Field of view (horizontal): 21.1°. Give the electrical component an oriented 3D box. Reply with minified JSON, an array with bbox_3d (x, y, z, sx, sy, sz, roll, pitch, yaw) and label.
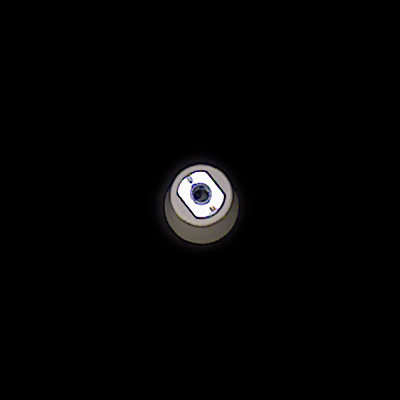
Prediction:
[{"bbox_3d":[0.000,0.000,0.626,0.044,0.044,0.065,0,-7,0],"label":"electrical component"}]
